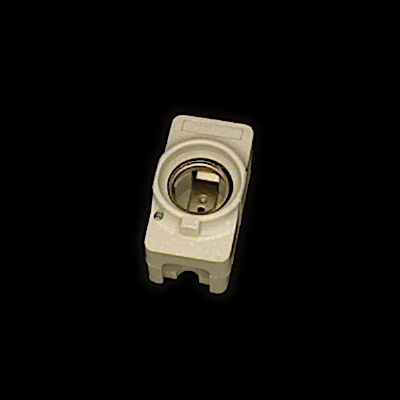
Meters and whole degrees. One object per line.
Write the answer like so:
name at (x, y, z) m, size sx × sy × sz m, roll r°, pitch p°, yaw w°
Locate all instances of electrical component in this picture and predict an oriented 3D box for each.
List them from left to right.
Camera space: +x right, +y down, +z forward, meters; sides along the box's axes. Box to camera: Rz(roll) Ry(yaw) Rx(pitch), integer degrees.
electrical component at (0.000, 0.000, 0.636) m, size 0.050 × 0.090 × 0.055 m, roll 9°, pitch -26°, yaw 5°
